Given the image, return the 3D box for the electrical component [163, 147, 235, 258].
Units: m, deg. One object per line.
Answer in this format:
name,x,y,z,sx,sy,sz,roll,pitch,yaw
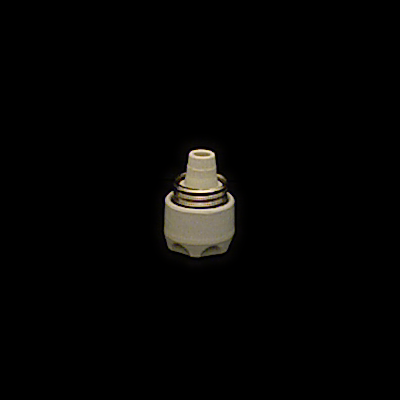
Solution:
electrical component,0.000,0.000,0.645,0.043,0.063,0.043,2,23,0
